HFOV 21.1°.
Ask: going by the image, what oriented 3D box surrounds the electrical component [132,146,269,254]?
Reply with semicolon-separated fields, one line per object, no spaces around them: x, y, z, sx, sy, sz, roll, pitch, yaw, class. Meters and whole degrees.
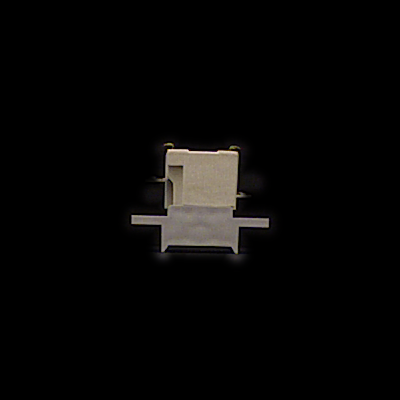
0.000;0.000;0.650;0.081;0.064;0.042;1;1;-4;electrical component
